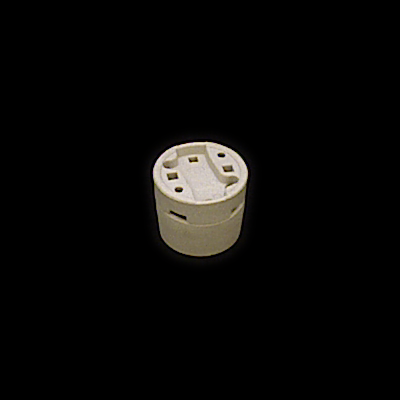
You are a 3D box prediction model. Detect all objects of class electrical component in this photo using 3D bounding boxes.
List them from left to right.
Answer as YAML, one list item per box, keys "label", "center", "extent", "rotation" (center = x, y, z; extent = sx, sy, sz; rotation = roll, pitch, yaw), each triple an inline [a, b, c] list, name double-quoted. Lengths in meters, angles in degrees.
- label: "electrical component"
  center: [0.000, 0.000, 0.635]
  extent: [0.055, 0.047, 0.055]
  rotation: [0, 42, 0]
